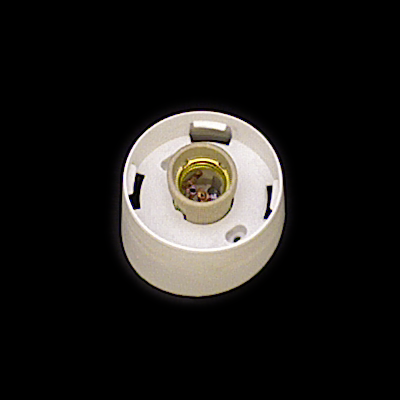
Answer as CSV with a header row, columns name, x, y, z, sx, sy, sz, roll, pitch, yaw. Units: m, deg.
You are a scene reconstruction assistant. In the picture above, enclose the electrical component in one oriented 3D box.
name,x,y,z,sx,sy,sz,roll,pitch,yaw
electrical component,0.000,0.000,0.625,0.099,0.099,0.064,0,-27,0
